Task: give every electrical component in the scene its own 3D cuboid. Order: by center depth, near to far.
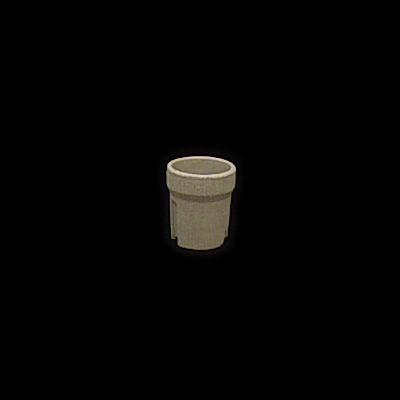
[{"bbox_3d":[0.000,0.000,0.640,0.040,0.047,0.039,1,21,0],"label":"electrical component"}]
